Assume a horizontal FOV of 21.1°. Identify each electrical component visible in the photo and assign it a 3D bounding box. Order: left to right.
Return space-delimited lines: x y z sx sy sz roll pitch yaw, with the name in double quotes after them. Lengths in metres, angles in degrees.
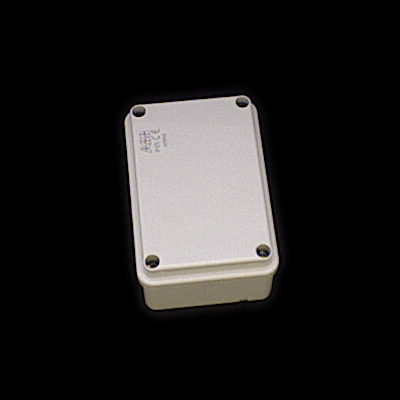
0.000 0.000 0.627 0.078 0.113 0.057 -5 -27 -3 "electrical component"
